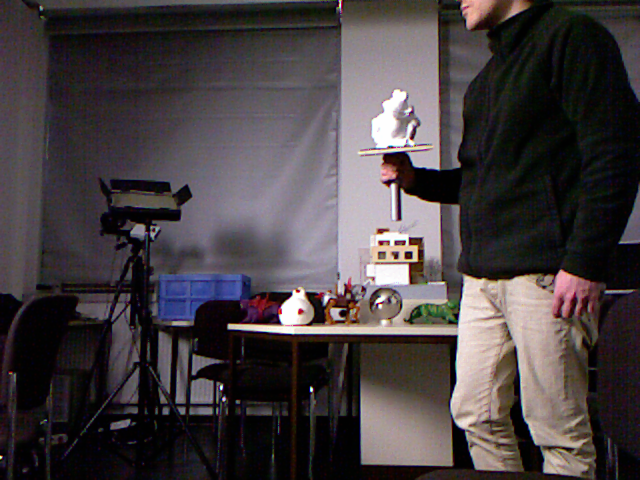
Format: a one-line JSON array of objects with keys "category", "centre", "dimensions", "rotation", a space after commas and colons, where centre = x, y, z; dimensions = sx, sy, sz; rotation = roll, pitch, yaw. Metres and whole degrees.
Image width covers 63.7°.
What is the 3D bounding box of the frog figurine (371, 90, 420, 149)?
[{"category": "frog figurine", "centre": [0.213, -0.343, 1.469], "dimensions": [0.138, 0.158, 0.124], "rotation": [2, 13, 27]}]
